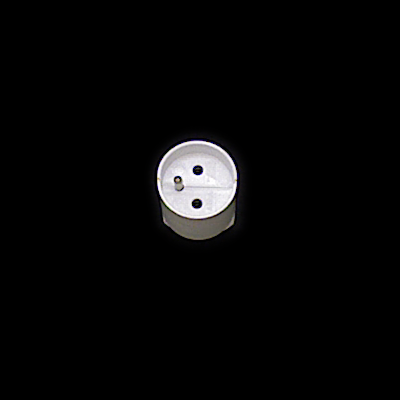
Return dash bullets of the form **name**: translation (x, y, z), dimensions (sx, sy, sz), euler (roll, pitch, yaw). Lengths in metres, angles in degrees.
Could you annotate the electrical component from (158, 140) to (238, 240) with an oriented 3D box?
- **electrical component**: translation (0.000, 0.000, 0.615), dimensions (0.043, 0.043, 0.080), euler (0, -17, 1)
